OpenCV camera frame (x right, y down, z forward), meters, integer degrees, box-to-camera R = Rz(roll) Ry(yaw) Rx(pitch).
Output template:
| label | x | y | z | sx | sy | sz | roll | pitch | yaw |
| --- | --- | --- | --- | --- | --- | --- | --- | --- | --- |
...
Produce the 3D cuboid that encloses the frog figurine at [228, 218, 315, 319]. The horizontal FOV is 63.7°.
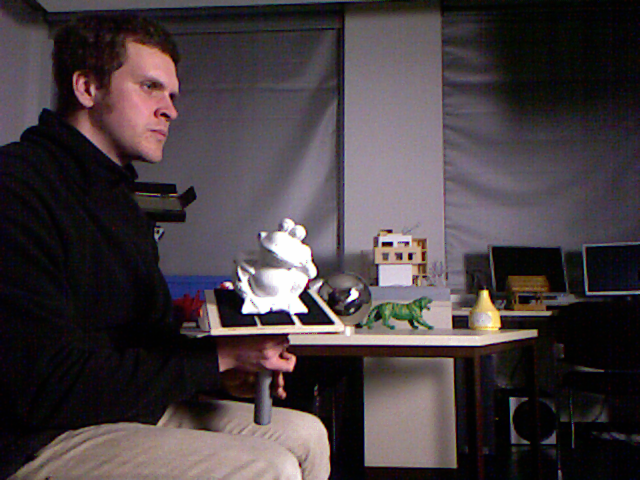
| label | x | y | z | sx | sy | sz | roll | pitch | yaw |
| --- | --- | --- | --- | --- | --- | --- | --- | --- | --- |
| frog figurine | -0.076 | 0.038 | 0.833 | 0.138 | 0.158 | 0.124 | 7 | 12 | 4 |
